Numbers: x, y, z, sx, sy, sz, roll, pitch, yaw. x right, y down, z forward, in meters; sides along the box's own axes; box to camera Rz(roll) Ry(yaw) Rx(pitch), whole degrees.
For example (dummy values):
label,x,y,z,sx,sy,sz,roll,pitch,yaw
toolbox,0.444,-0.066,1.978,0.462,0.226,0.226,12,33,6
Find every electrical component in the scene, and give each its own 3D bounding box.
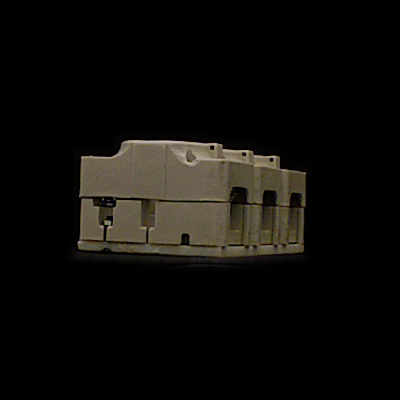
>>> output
label,x,y,z,sx,sy,sz,roll,pitch,yaw
electrical component,0.000,0.000,0.657,0.089,0.062,0.150,2,0,22
